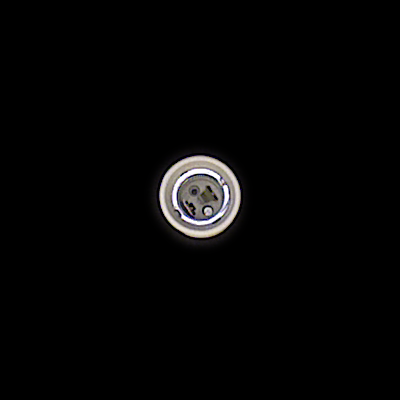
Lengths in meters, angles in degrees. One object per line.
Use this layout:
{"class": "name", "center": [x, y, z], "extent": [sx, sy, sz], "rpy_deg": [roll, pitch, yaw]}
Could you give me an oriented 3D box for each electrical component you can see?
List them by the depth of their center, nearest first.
{"class": "electrical component", "center": [0.000, 0.000, 0.628], "extent": [0.045, 0.045, 0.055], "rpy_deg": [0, -6, 1]}
